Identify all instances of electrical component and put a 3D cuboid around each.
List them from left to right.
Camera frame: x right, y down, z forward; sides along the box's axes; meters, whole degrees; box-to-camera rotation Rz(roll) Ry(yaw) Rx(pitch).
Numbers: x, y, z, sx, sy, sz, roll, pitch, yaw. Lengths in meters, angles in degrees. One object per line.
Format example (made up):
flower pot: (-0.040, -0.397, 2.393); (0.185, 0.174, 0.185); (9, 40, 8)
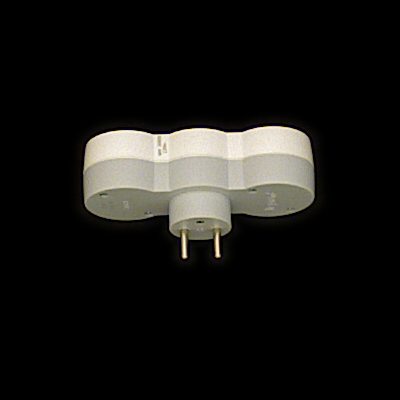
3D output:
electrical component: (0.000, 0.000, 0.636); (0.138, 0.074, 0.052); (-1, -25, -1)
